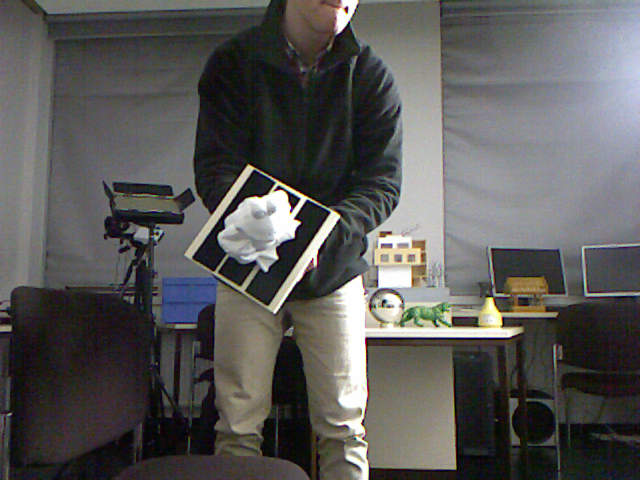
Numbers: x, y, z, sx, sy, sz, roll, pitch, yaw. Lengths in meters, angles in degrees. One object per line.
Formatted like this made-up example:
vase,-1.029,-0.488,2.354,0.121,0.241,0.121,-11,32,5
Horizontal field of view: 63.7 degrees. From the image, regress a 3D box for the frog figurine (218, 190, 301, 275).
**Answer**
frog figurine,-0.105,-0.028,0.826,0.138,0.124,0.157,-36,-23,-3
